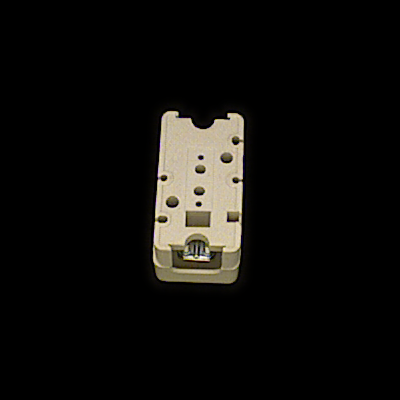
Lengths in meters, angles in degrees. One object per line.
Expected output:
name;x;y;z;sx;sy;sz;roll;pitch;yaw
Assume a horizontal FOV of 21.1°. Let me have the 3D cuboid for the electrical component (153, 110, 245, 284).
electrical component;0.000;0.000;0.636;0.050;0.089;0.055;2;-26;0
